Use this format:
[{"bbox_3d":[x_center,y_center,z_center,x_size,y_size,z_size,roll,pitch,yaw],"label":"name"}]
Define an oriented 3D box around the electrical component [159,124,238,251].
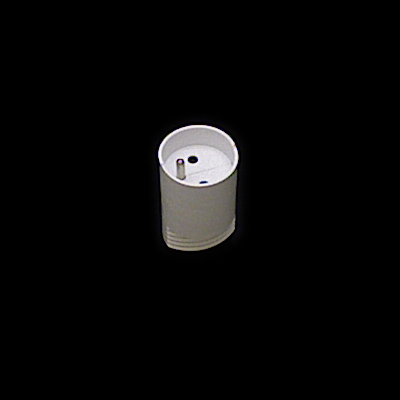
[{"bbox_3d":[0.000,0.000,0.617,0.043,0.043,0.081,0,-38,1],"label":"electrical component"}]
